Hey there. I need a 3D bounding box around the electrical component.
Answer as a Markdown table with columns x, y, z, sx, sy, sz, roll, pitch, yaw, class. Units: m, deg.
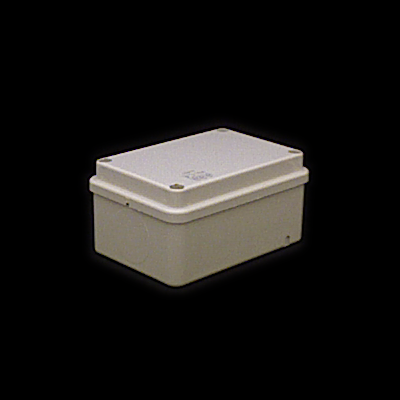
| x | y | z | sx | sy | sz | roll | pitch | yaw | class |
| --- | --- | --- | --- | --- | --- | --- | --- | --- | --- |
| 0.000 | 0.000 | 0.637 | 0.113 | 0.058 | 0.077 | -18 | 28 | -41 | electrical component |
